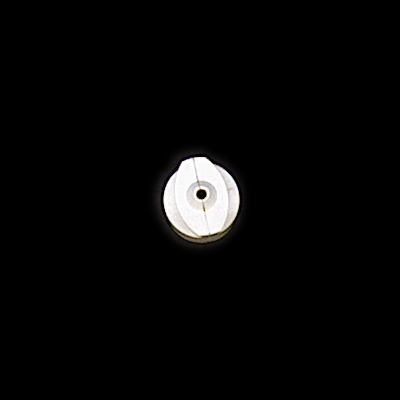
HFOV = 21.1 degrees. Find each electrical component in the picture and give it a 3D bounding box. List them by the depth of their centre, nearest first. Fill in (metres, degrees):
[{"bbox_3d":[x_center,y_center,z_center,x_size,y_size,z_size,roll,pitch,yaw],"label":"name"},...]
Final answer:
[{"bbox_3d":[0.000,0.000,0.616,0.043,0.043,0.080,0,-6,1],"label":"electrical component"}]
